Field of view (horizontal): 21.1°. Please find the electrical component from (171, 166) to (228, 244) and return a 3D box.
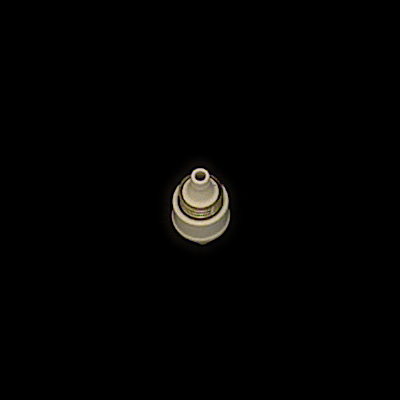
[{"bbox_3d":[0.000,0.000,0.637,0.035,0.035,0.061,0,-28,0],"label":"electrical component"}]
